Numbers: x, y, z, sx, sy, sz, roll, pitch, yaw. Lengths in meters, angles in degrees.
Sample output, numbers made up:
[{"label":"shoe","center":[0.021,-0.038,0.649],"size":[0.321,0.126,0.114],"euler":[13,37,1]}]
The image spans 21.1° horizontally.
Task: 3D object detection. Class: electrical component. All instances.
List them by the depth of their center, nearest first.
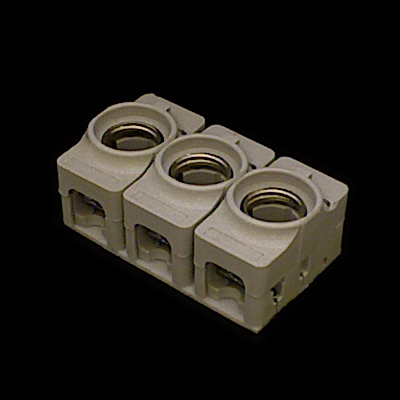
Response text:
[{"label":"electrical component","center":[0.000,0.000,0.638],"size":[0.149,0.063,0.088],"euler":[27,47,26]}]
